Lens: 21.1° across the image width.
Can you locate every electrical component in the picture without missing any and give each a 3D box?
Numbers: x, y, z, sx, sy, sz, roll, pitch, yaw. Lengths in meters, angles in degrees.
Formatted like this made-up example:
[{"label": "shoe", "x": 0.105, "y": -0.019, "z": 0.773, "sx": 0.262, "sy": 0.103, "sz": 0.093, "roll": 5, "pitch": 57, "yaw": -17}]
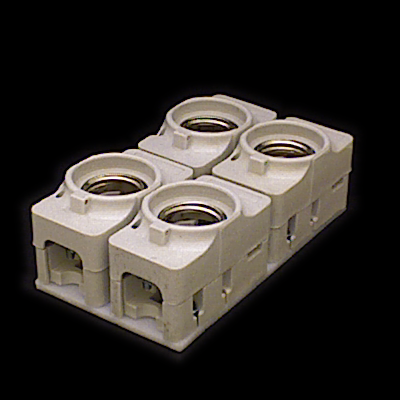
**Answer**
[{"label": "electrical component", "x": 0.000, "y": 0.000, "z": 0.633, "sx": 0.105, "sy": 0.061, "sz": 0.185, "roll": 21, "pitch": 37, "yaw": 29}]
